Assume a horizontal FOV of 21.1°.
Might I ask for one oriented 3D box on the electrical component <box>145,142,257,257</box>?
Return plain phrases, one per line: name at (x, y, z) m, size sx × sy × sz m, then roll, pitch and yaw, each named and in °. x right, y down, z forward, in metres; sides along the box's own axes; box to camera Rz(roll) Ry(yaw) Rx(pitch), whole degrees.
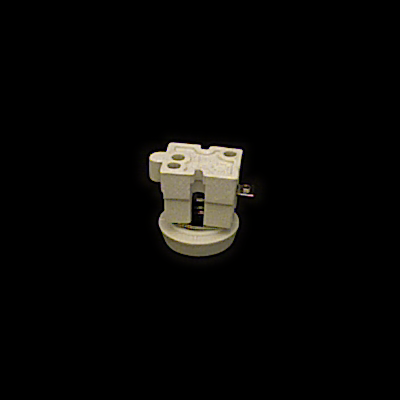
electrical component at (0.000, 0.000, 0.642) m, size 0.066 × 0.056 × 0.048 m, roll 5°, pitch 31°, yaw 5°
